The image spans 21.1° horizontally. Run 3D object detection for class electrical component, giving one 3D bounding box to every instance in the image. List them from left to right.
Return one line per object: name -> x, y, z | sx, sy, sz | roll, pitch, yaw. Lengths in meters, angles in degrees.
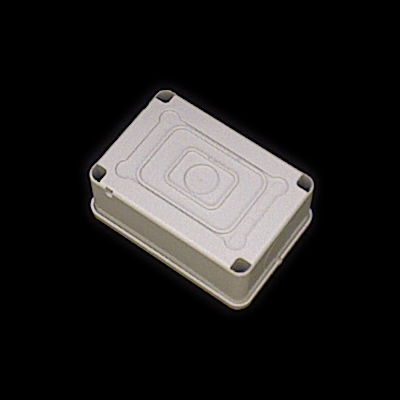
electrical component -> 0.000, 0.000, 0.628 | 0.113, 0.078, 0.057 | 33, -23, 15
